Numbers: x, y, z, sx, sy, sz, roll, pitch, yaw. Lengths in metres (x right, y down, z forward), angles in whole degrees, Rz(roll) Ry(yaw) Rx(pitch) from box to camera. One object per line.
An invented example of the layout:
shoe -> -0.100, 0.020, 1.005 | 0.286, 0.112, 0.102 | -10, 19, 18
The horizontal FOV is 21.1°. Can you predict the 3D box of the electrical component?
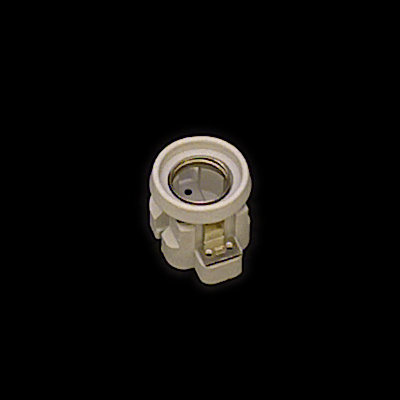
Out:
electrical component -> 0.000, 0.000, 0.629 | 0.058, 0.078, 0.057 | -18, -35, -14
